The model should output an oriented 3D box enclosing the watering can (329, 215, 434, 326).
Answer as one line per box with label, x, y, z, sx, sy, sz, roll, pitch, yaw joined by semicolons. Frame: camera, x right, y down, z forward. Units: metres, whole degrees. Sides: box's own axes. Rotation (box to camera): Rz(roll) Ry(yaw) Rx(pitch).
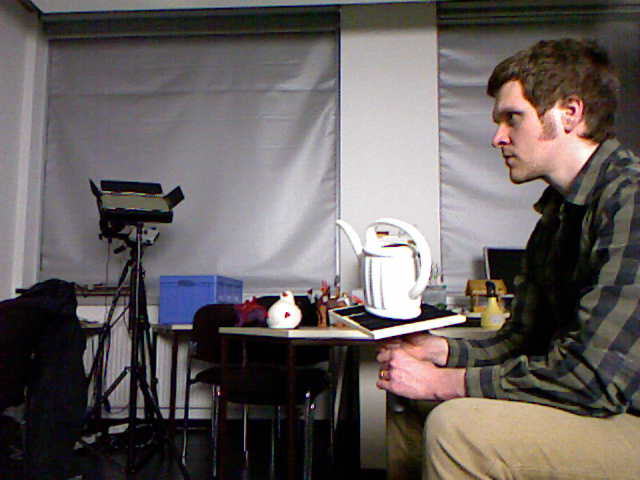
watering can;0.120;0.054;1.080;0.104;0.223;0.349;-8;11;-27
